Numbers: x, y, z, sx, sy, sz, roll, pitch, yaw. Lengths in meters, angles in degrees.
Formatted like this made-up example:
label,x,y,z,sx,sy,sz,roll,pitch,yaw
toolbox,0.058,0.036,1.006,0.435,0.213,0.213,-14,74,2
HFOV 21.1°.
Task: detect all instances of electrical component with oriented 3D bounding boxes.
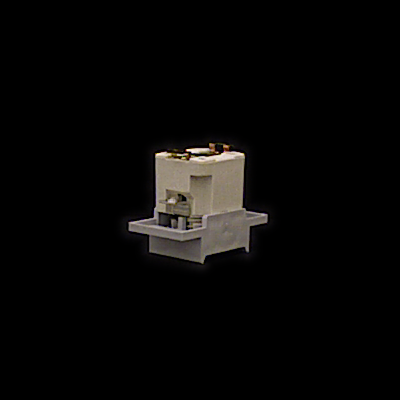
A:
label,x,y,z,sx,sy,sz,roll,pitch,yaw
electrical component,0.000,0.000,0.643,0.042,0.064,0.081,10,14,38
